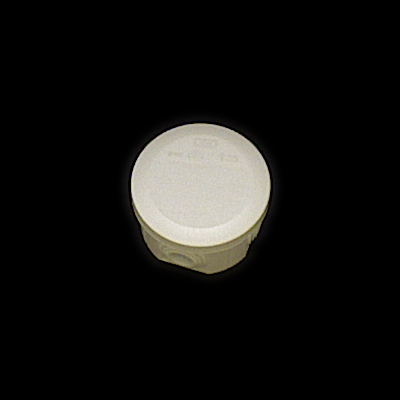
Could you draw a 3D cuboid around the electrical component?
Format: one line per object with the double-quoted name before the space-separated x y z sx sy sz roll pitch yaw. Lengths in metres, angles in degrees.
"electrical component" 0.000 0.000 0.630 0.080 0.080 0.050 0 -27 0
